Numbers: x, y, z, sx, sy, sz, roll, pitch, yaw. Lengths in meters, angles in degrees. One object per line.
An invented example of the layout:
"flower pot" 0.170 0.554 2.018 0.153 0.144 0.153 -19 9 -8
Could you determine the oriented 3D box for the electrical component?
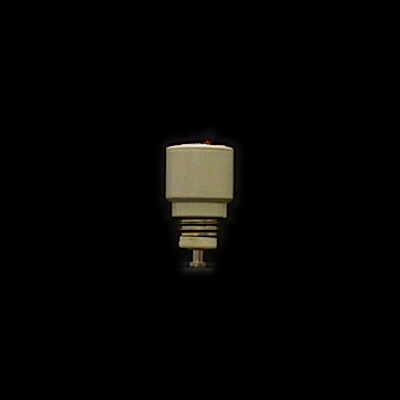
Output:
"electrical component" 0.000 0.000 0.651 0.040 0.078 0.040 1 1 0
